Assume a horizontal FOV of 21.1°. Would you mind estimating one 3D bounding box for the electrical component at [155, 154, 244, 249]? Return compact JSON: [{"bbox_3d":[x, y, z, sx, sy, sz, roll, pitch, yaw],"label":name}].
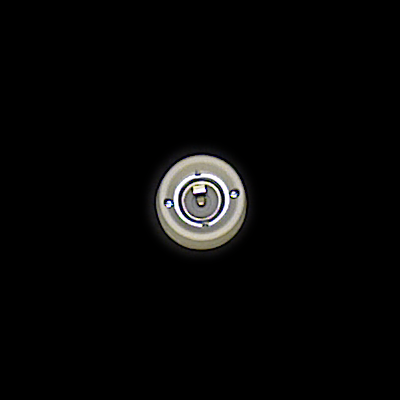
[{"bbox_3d":[0.000,0.000,0.634,0.055,0.055,0.047,0,-7,-1],"label":"electrical component"}]
